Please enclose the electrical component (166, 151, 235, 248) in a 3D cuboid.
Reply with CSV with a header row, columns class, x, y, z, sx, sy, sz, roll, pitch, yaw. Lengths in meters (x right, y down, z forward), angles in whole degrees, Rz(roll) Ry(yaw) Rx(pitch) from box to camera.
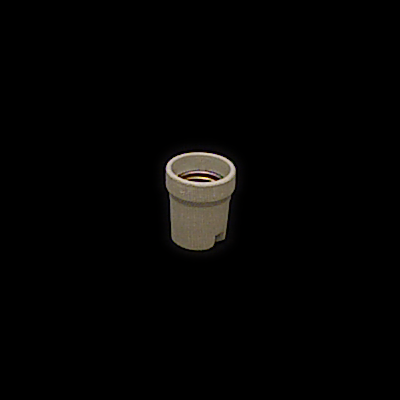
class,x,y,z,sx,sy,sz,roll,pitch,yaw
electrical component,0.000,0.000,0.636,0.040,0.047,0.039,1,32,0
